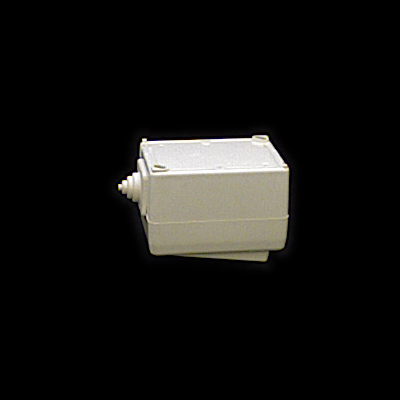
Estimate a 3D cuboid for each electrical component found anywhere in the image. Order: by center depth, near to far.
[{"bbox_3d":[0.000,0.000,0.635,0.096,0.061,0.061,-2,22,-9],"label":"electrical component"}]
